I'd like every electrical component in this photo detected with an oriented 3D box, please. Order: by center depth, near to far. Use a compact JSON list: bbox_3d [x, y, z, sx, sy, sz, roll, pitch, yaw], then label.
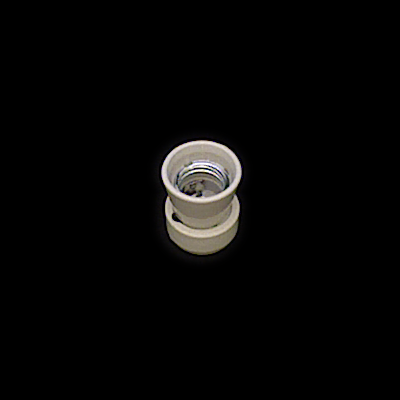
[{"bbox_3d":[0.000,0.000,0.629,0.045,0.044,0.055,0,-38,0],"label":"electrical component"}]
